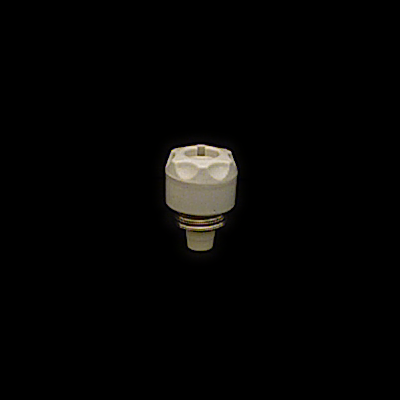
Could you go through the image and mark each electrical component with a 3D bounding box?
[{"bbox_3d":[0.000,0.000,0.645,0.043,0.063,0.043,1,23,0],"label":"electrical component"}]
